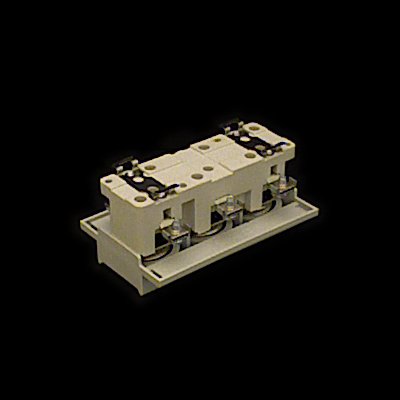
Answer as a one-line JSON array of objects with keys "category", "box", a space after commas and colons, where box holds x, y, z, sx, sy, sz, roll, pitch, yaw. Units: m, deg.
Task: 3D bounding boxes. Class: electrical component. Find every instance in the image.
[{"category": "electrical component", "box": [0.000, 0.000, 0.643, 0.122, 0.064, 0.077, -23, 38, -33]}]
